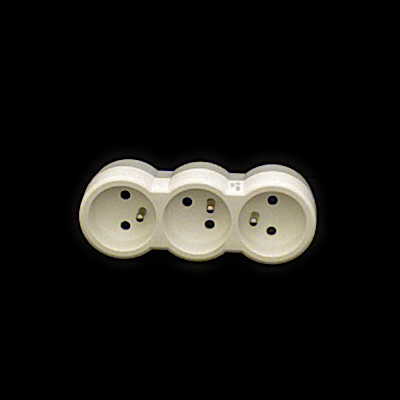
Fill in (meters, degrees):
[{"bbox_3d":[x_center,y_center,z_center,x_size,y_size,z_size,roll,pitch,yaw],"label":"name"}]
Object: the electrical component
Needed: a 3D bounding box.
[{"bbox_3d":[0.000,0.000,0.650,0.138,0.053,0.073,2,20,2],"label":"electrical component"}]
